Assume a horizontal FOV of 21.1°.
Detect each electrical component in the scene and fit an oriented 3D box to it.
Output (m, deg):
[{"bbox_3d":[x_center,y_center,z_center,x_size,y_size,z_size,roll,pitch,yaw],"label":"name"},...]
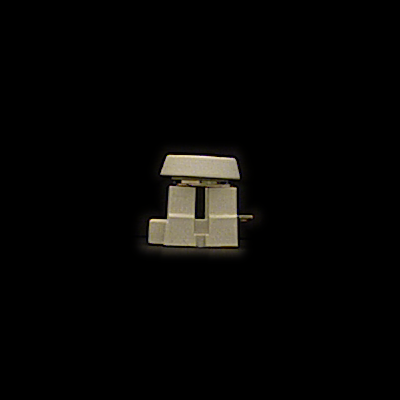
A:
[{"bbox_3d":[0.000,0.000,0.657,0.066,0.055,0.048,1,4,-5],"label":"electrical component"}]
